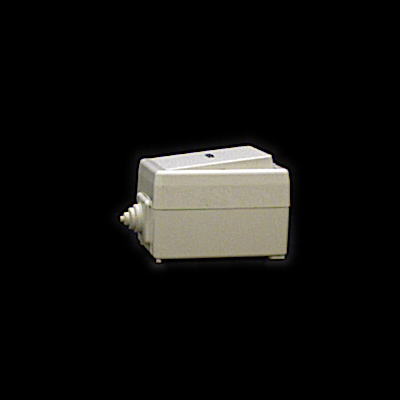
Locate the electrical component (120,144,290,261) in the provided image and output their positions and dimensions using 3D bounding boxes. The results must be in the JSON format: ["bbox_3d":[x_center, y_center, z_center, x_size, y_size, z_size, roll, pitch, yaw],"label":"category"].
[{"bbox_3d":[0.000,0.000,0.644,0.096,0.061,0.061,-1,11,-13],"label":"electrical component"}]
